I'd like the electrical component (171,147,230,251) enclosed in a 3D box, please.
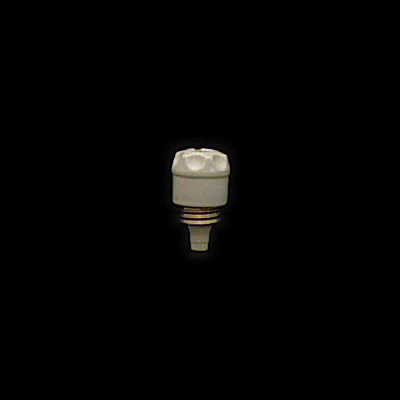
[{"bbox_3d":[0.000,0.000,0.654,0.035,0.062,0.035,1,12,0],"label":"electrical component"}]
